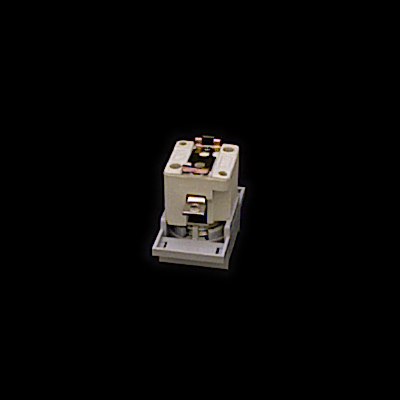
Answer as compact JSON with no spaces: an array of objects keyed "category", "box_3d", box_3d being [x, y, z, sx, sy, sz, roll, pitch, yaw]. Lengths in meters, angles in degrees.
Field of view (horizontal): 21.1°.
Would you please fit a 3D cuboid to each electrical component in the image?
[{"category":"electrical component","box_3d":[0.000,0.000,0.634,0.042,0.064,0.080,6,32,8]}]
